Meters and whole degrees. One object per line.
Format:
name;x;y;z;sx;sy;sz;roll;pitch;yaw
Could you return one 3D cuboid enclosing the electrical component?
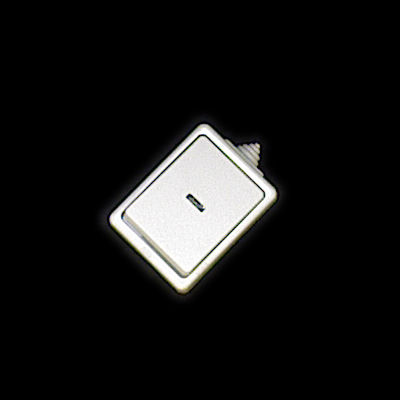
electrical component;0.000;0.000;0.626;0.062;0.096;0.061;44;-5;5
